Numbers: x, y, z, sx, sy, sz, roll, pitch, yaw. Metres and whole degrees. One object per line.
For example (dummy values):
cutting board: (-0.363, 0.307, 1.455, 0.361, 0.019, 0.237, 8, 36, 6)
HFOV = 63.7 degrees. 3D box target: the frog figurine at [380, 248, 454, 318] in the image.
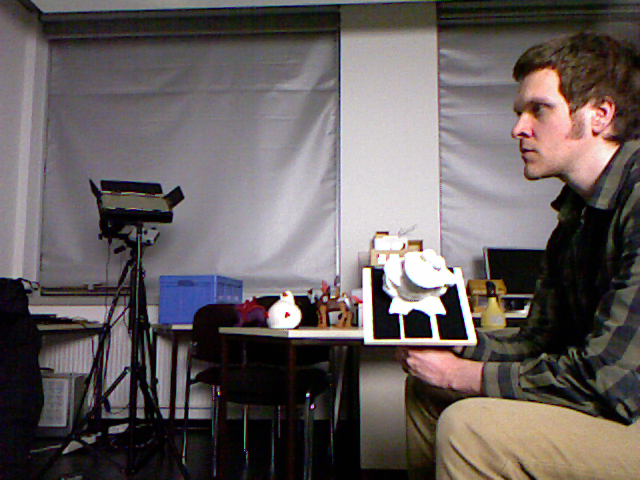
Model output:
frog figurine: (0.184, 0.063, 0.974, 0.138, 0.156, 0.126, 11, 41, 14)
